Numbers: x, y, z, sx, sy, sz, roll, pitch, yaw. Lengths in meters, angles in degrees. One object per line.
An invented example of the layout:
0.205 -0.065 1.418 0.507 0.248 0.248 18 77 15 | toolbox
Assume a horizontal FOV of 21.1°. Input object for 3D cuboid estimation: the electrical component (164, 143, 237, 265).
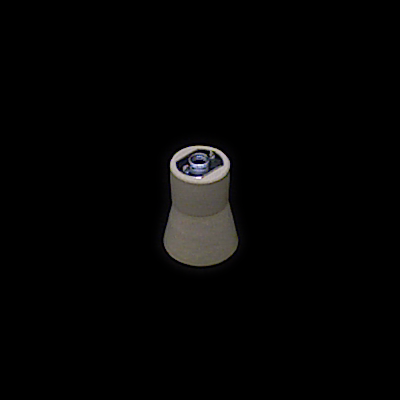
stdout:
0.000 0.000 0.631 0.044 0.066 0.044 0 41 0 | electrical component
